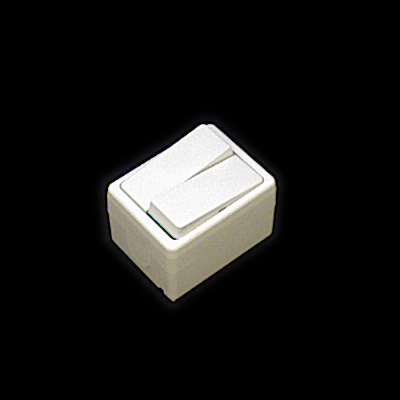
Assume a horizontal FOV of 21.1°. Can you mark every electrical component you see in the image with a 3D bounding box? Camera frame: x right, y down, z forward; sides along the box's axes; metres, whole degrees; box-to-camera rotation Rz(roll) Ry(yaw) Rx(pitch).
[{"bbox_3d":[0.000,0.000,0.629,0.096,0.061,0.061,-33,59,-23],"label":"electrical component"}]
